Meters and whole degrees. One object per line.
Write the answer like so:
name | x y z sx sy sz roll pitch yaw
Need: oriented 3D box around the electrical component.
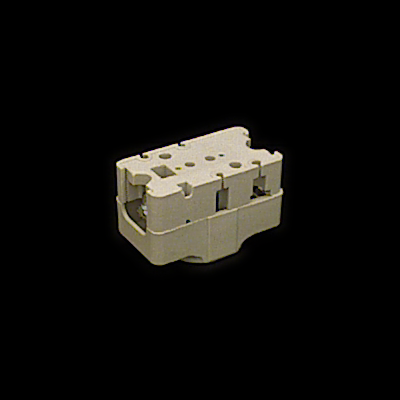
electrical component | 0.000 0.000 0.642 0.090 0.056 0.049 -19 38 -28
